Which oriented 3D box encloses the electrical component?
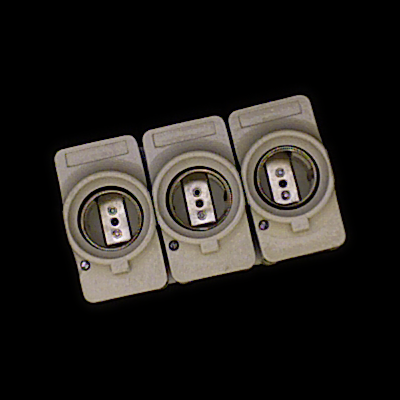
[{"bbox_3d":[0.000,0.000,0.632,0.150,0.089,0.061,-13,-5,-1],"label":"electrical component"}]
